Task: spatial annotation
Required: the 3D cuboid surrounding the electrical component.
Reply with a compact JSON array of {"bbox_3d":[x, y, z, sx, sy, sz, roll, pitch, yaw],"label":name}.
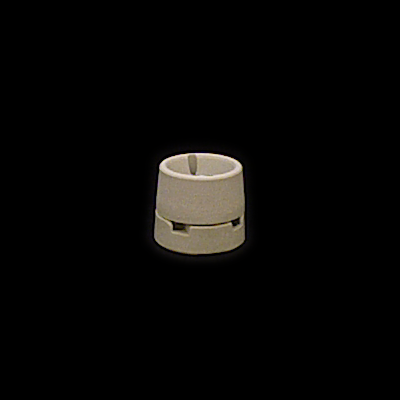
[{"bbox_3d":[0.000,0.000,0.643,0.055,0.047,0.055,1,20,0],"label":"electrical component"}]
